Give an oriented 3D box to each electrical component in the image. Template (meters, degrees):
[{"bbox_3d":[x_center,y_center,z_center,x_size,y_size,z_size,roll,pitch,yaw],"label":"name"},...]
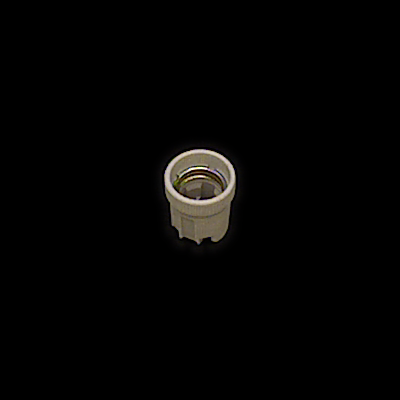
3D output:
[{"bbox_3d":[0.000,0.000,0.629,0.040,0.040,0.046,0,-38,-1],"label":"electrical component"}]
